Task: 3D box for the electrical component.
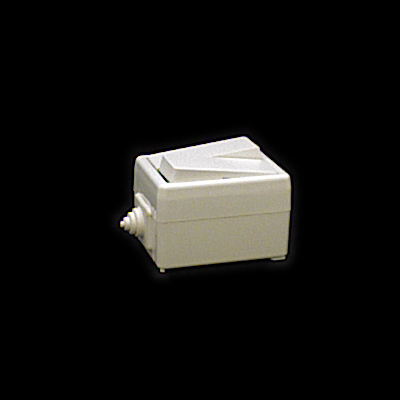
[{"bbox_3d":[0.000,0.000,0.638,0.096,0.061,0.061,-5,22,-16],"label":"electrical component"}]
